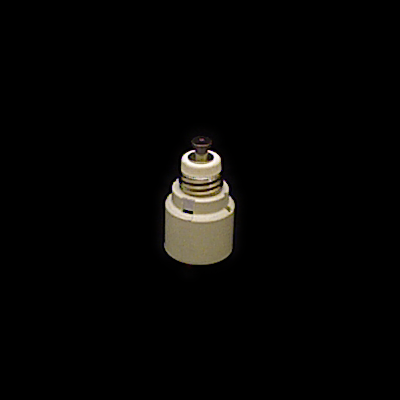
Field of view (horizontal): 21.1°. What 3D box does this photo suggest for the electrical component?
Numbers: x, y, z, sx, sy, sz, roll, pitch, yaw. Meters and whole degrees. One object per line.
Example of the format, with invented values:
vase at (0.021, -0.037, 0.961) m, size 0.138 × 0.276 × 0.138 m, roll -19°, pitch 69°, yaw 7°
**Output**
electrical component at (0.000, 0.000, 0.630) m, size 0.040 × 0.079 × 0.039 m, roll 2°, pitch 31°, yaw -1°
